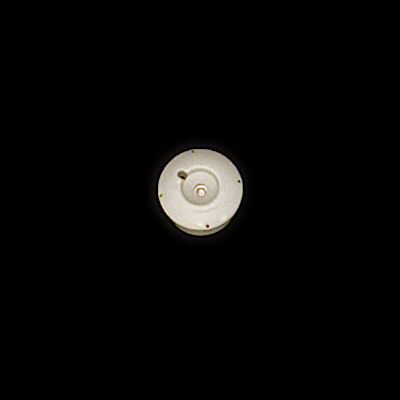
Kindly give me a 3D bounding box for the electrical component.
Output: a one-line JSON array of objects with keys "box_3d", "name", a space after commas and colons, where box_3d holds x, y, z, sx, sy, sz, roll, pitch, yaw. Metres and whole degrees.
[{"box_3d": [0.000, 0.000, 0.633, 0.048, 0.048, 0.061, 0, -16, 1], "name": "electrical component"}]
